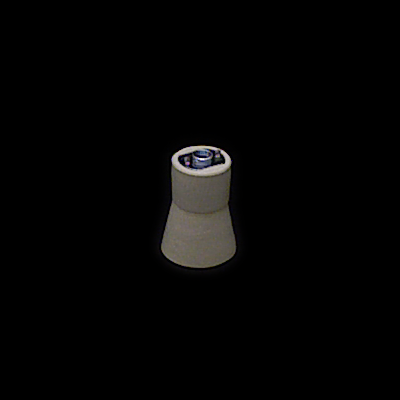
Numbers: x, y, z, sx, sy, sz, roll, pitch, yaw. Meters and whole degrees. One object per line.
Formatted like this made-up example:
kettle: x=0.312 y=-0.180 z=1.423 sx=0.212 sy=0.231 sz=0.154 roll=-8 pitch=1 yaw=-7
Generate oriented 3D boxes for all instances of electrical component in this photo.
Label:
electrical component: x=0.000 y=0.000 z=0.631 sx=0.044 sy=0.066 sz=0.044 roll=1 pitch=32 yaw=-1
